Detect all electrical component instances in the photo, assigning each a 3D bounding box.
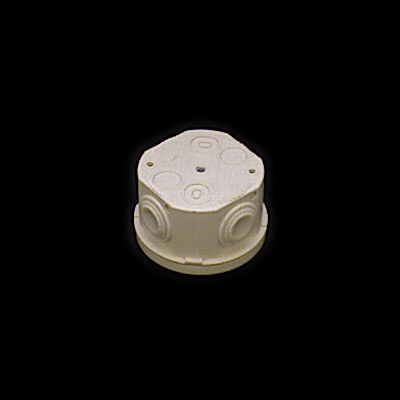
[{"bbox_3d":[0.000,0.000,0.634,0.080,0.051,0.080,0,42,0],"label":"electrical component"}]
